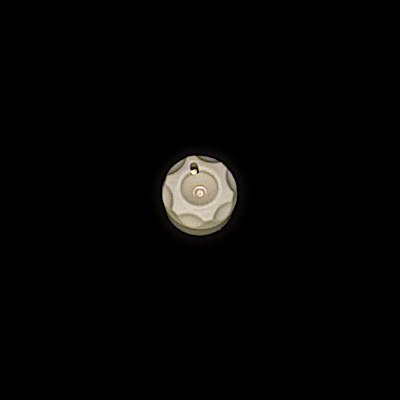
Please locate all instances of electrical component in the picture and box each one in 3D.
[{"bbox_3d":[0.000,0.000,0.633,0.043,0.043,0.061,0,-15,0],"label":"electrical component"}]
